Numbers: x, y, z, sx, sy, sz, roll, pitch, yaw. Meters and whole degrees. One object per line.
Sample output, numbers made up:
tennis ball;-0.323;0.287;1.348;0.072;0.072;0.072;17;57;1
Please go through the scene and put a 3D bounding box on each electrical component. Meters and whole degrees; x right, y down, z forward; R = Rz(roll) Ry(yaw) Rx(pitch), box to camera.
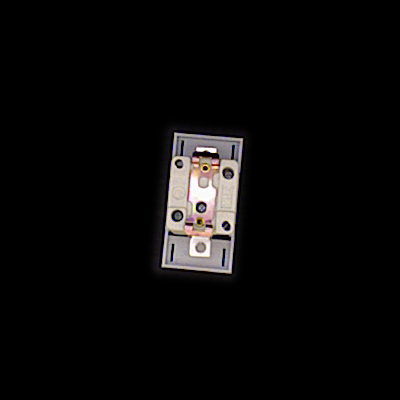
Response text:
electrical component;0.000;0.000;0.626;0.042;0.081;0.063;4;-6;1
